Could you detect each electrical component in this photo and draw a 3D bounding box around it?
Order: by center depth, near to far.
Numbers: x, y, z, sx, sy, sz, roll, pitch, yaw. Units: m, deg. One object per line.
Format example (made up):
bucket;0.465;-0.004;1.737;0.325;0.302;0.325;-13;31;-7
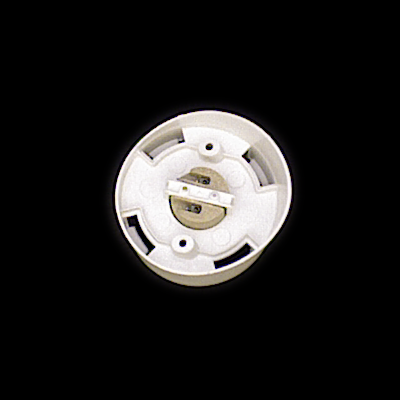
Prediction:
electrical component;0.000;0.000;0.624;0.099;0.099;0.064;0;-17;-1
